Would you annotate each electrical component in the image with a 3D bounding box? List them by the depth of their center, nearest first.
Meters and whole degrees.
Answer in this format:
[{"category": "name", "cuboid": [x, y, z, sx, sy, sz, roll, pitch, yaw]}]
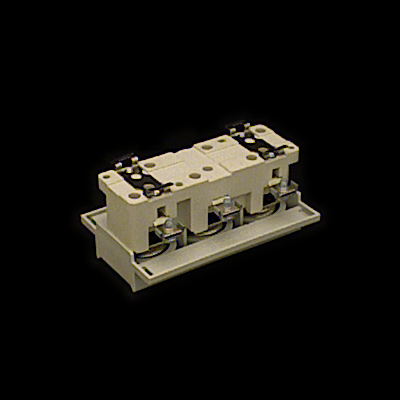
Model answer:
[{"category": "electrical component", "cuboid": [0.000, 0.000, 0.643, 0.122, 0.064, 0.077, -19, 36, -29]}]
